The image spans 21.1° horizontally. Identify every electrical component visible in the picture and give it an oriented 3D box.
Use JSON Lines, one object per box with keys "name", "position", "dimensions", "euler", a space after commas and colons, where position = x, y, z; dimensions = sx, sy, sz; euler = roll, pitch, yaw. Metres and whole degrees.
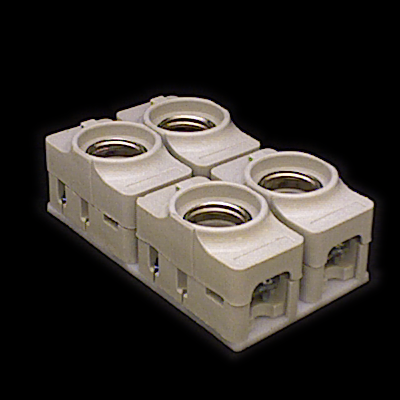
{"name": "electrical component", "position": [0.000, 0.000, 0.633], "dimensions": [0.105, 0.061, 0.184], "euler": [-23, 38, -33]}
